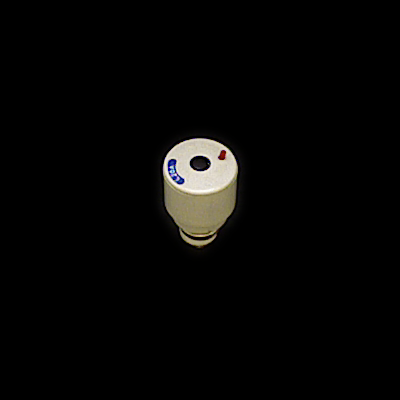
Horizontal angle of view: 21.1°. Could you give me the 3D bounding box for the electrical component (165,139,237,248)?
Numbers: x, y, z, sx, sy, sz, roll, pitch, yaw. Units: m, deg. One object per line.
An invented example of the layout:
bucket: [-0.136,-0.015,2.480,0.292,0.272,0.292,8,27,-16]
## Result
electrical component: [0.000,0.000,0.620,0.040,0.040,0.079,0,-38,-1]
